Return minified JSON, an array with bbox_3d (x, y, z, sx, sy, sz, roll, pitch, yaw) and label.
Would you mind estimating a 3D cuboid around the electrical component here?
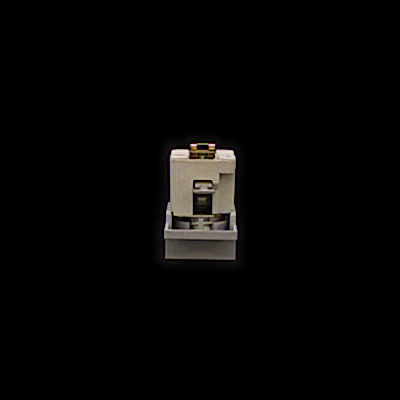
[{"bbox_3d":[0.000,0.000,0.644,0.042,0.064,0.080,1,11,-1],"label":"electrical component"}]
